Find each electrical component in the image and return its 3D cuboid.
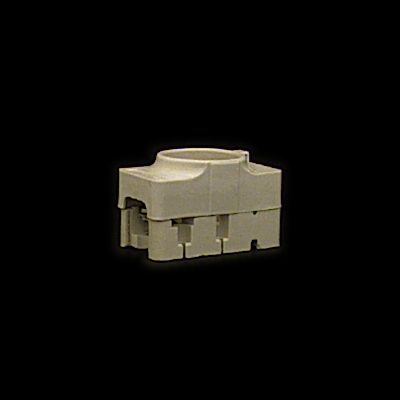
[{"bbox_3d":[0.000,0.000,0.651,0.090,0.056,0.049,-6,14,-33],"label":"electrical component"}]
